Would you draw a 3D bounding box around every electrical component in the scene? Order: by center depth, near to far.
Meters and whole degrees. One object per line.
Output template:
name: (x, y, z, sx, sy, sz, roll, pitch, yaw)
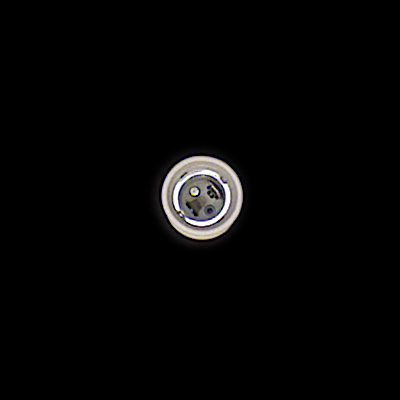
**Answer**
electrical component: (0.000, 0.000, 0.629, 0.045, 0.045, 0.055, 0, -6, 0)
